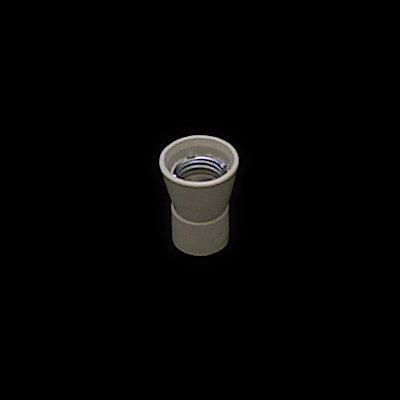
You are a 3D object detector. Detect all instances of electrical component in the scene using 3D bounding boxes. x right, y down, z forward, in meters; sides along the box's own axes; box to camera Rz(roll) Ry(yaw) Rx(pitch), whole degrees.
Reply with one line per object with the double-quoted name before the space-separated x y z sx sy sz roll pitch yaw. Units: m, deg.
"electrical component" 0.000 0.000 0.628 0.044 0.066 0.044 0 43 0
